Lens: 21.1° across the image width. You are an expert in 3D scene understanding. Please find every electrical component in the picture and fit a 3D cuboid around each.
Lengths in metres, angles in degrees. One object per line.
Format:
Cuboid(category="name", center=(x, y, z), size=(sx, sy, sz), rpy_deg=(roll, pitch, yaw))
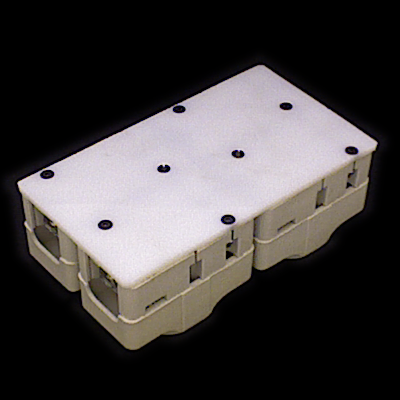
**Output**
Cuboid(category="electrical component", center=(0.000, 0.000, 0.629), size=(0.186, 0.061, 0.104), rpy_deg=(-29, 49, -29))
